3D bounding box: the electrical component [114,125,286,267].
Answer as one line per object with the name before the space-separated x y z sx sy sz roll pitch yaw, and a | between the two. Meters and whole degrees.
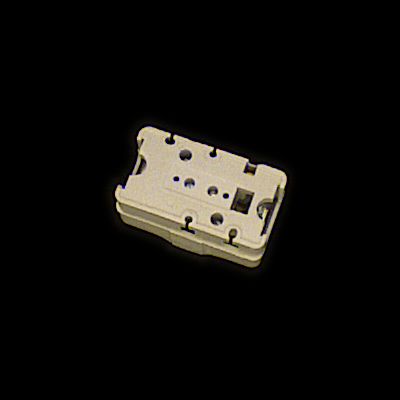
electrical component | 0.000 0.000 0.636 0.089 0.050 0.055 19 -16 5
